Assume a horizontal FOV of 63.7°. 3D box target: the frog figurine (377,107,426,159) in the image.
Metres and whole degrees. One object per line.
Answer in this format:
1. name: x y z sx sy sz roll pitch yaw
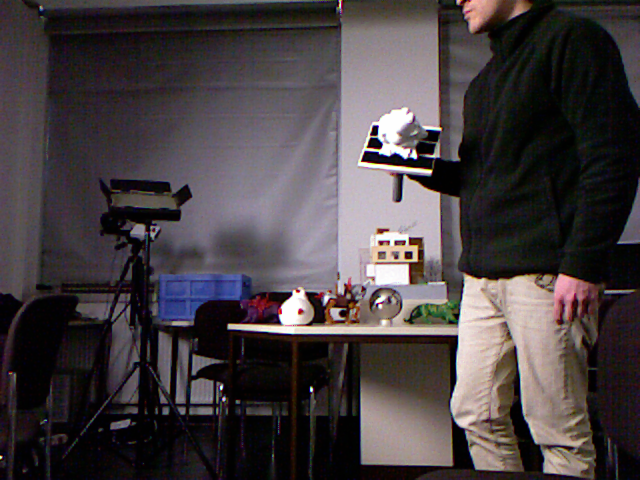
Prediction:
1. frog figurine: 0.224 -0.309 1.414 0.139 0.125 0.156 25 -35 22
